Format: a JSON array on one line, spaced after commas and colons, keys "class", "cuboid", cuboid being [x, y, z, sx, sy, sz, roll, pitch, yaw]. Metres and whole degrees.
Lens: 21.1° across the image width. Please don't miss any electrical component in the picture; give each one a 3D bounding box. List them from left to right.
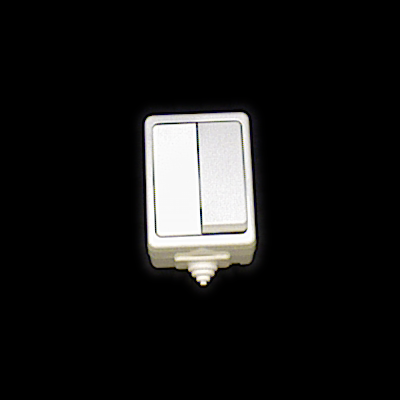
[{"class": "electrical component", "cuboid": [0.000, 0.000, 0.625, 0.062, 0.097, 0.060, -2, -17, -1]}]
